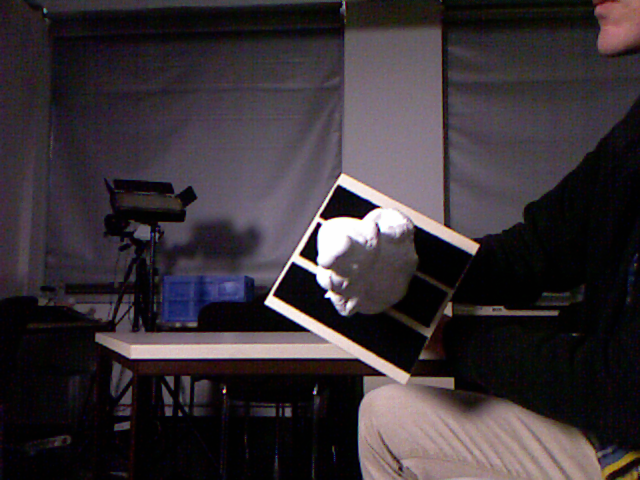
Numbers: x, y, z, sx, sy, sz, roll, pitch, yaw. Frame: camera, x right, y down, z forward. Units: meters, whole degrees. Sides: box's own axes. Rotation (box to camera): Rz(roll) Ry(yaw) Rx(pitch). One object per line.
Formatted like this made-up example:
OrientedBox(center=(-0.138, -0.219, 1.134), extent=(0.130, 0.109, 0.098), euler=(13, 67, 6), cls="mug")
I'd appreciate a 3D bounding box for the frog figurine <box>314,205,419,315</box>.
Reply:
OrientedBox(center=(0.056, 0.018, 0.587), extent=(0.124, 0.138, 0.159), euler=(42, -6, 8), cls="frog figurine")
